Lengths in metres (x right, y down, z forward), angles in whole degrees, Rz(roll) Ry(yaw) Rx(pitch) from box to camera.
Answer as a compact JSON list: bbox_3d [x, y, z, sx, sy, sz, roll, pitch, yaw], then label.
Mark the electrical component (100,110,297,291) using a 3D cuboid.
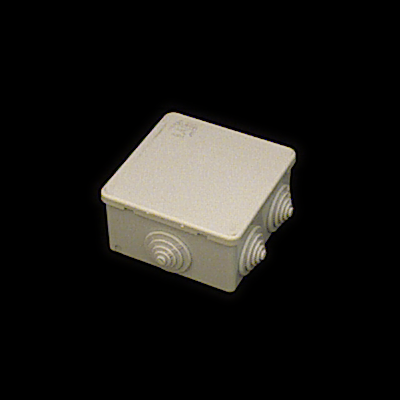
[{"bbox_3d":[0.000,0.000,0.643,0.099,0.049,0.100,19,46,18],"label":"electrical component"}]
